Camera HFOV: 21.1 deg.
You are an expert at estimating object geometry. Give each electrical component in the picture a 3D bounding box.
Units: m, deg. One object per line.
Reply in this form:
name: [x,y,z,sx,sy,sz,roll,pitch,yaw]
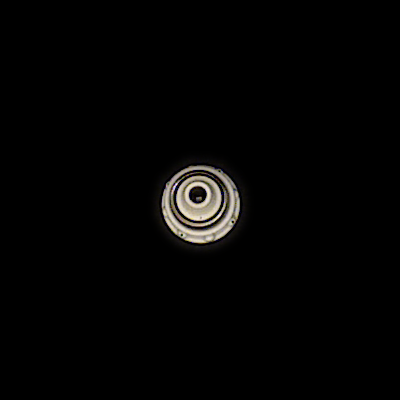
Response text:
electrical component: [0.000,0.000,0.635,0.048,0.048,0.062,0,-6,1]
